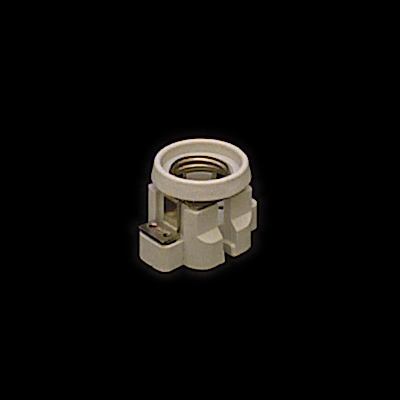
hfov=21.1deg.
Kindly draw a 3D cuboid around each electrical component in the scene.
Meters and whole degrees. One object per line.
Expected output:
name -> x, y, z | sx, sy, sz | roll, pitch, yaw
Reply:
electrical component -> 0.000, 0.000, 0.633 | 0.078, 0.057, 0.057 | -25, 40, -36
